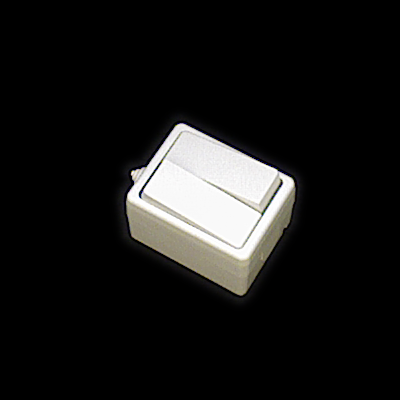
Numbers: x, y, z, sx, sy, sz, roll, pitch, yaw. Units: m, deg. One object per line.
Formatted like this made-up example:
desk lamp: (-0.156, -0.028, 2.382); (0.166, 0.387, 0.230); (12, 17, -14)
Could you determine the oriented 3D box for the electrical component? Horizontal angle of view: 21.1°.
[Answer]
electrical component: (0.000, 0.000, 0.627); (0.096, 0.062, 0.061); (28, -24, 14)
